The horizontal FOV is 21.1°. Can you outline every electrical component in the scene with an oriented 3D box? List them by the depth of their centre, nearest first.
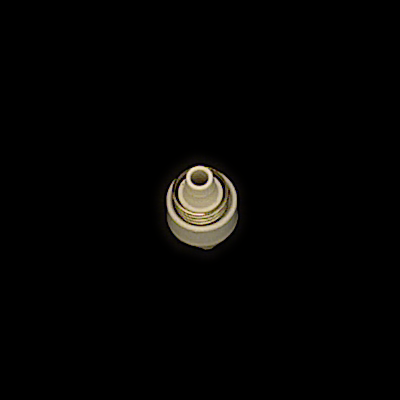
[{"bbox_3d":[0.000,0.000,0.633,0.043,0.043,0.062,0,-26,2],"label":"electrical component"}]
